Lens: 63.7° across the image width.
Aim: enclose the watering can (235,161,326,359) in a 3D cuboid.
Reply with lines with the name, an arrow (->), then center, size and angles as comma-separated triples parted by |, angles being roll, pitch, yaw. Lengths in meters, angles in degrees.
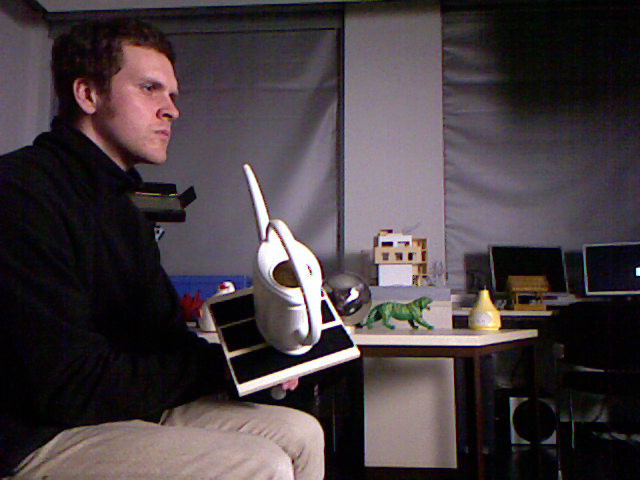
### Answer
watering can -> -0.071, 0.044, 0.838 | 0.105, 0.219, 0.356 | -12, 47, -20
